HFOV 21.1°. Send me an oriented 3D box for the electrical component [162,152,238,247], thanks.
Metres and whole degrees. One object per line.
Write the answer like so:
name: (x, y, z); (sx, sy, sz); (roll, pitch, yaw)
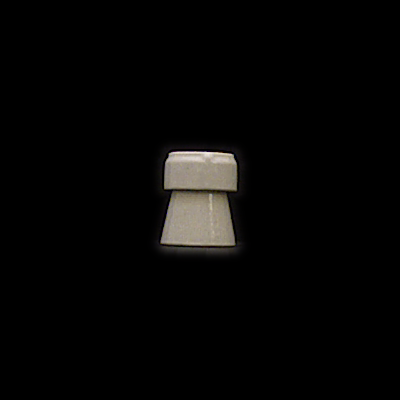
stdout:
electrical component: (0.000, 0.000, 0.650); (0.045, 0.055, 0.044); (2, 1, 0)
